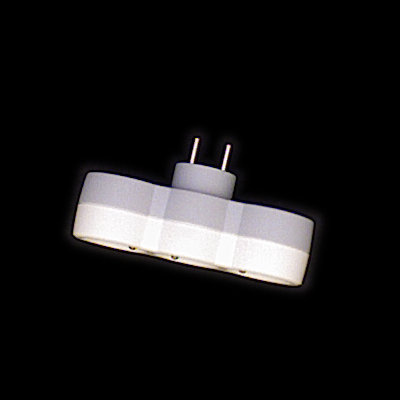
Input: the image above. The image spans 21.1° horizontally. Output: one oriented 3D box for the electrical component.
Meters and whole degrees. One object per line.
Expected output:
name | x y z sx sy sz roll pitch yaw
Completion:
electrical component | 0.000 0.000 0.632 0.138 0.074 0.052 12 -8 2
